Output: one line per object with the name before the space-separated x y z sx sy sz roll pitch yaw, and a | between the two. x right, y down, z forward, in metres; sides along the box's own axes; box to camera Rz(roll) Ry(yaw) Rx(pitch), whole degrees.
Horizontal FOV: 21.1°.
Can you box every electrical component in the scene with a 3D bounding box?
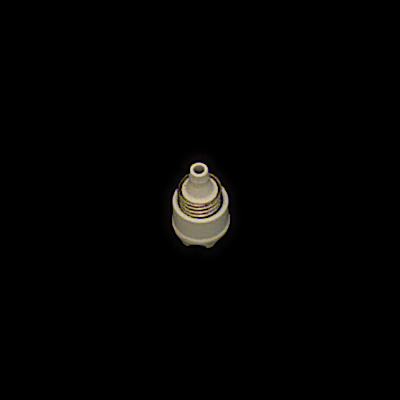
electrical component | 0.000 0.000 0.639 0.035 0.035 0.062 0 -36 2
